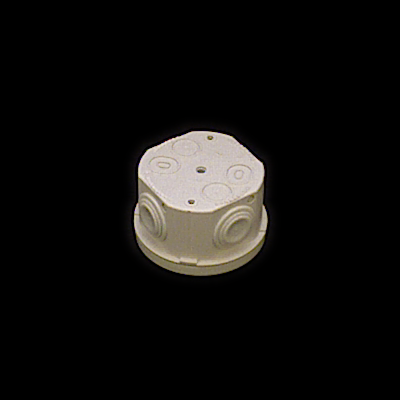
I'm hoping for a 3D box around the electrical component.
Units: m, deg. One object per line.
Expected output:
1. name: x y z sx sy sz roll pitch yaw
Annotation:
1. electrical component: 0.000 0.000 0.635 0.080 0.051 0.079 1 42 0
